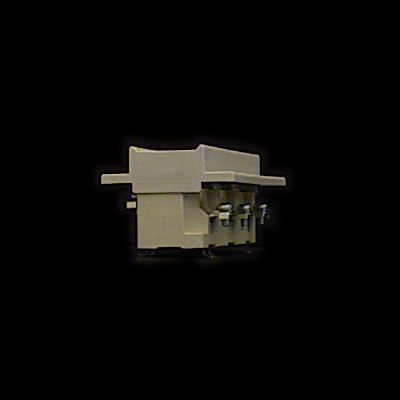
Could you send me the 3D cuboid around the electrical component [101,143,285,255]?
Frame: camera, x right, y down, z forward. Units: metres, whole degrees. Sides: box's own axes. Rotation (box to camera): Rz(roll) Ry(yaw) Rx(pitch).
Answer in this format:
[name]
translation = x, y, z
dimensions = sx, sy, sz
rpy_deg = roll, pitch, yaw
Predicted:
[electrical component]
translation = 0.000, 0.000, 0.661
dimensions = 0.078, 0.063, 0.122
rpy_deg = 0, 0, 18
